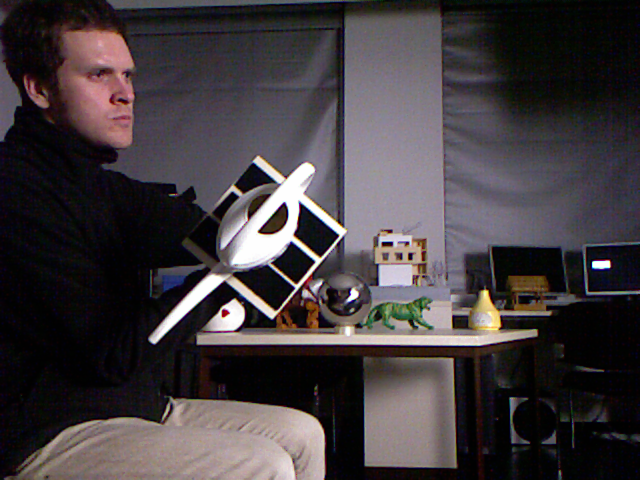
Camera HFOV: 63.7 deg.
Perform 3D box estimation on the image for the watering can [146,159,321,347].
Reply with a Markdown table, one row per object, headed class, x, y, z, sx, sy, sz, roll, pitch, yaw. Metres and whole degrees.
| class | x | y | z | sx | sy | sz | roll | pitch | yaw |
| --- | --- | --- | --- | --- | --- | --- | --- | --- | --- |
| watering can | -0.121 | 0.013 | 0.801 | 0.105 | 0.350 | 0.224 | 42 | -3 | 3 |
